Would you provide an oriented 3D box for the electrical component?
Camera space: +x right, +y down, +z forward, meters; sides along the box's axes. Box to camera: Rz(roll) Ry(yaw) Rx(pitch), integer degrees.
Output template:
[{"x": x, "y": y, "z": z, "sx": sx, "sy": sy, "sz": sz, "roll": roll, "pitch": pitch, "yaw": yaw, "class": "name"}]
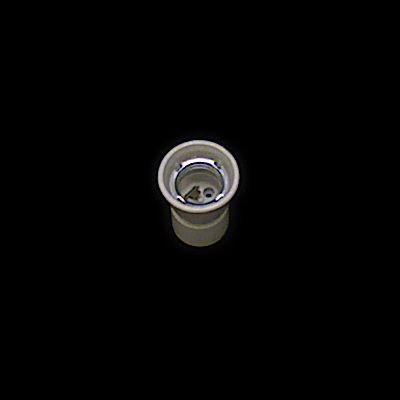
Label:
[{"x": 0.000, "y": 0.000, "z": 0.624, "sx": 0.044, "sy": 0.044, "sz": 0.065, "roll": 0, "pitch": -26, "yaw": 0, "class": "electrical component"}]
